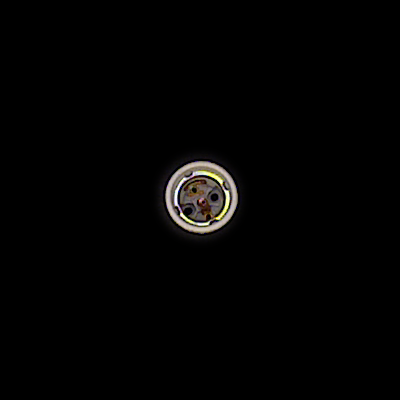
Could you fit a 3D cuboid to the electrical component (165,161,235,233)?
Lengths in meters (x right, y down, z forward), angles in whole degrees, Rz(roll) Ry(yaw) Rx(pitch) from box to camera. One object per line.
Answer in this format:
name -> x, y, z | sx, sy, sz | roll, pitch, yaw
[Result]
electrical component -> 0.000, 0.000, 0.627 | 0.040, 0.040, 0.046 | 0, -6, 0
